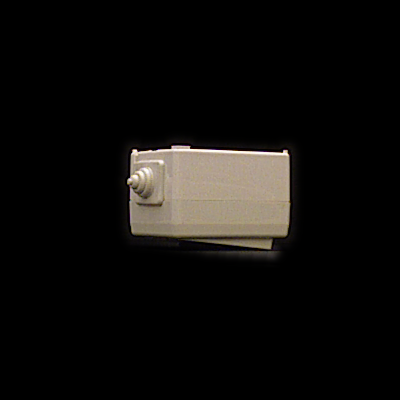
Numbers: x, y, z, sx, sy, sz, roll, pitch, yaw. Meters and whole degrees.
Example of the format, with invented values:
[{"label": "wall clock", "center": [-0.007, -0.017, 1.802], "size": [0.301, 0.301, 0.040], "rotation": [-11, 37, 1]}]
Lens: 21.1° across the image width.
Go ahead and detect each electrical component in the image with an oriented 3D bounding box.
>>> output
[{"label": "electrical component", "center": [0.000, 0.000, 0.651], "size": [0.096, 0.061, 0.061], "rotation": [0, 1, -31]}]
